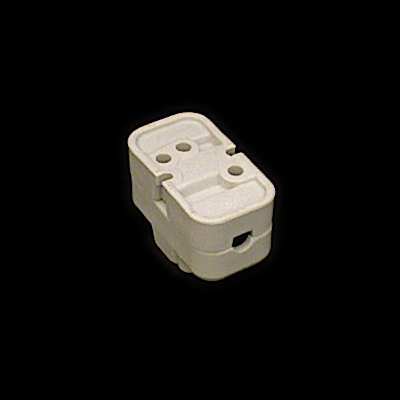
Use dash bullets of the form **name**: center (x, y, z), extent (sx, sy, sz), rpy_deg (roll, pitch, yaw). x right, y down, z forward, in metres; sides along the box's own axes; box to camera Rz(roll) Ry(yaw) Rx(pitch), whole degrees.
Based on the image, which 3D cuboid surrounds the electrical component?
- **electrical component**: center (0.000, 0.000, 0.636), extent (0.054, 0.060, 0.094), rpy_deg (-23, 48, -23)
